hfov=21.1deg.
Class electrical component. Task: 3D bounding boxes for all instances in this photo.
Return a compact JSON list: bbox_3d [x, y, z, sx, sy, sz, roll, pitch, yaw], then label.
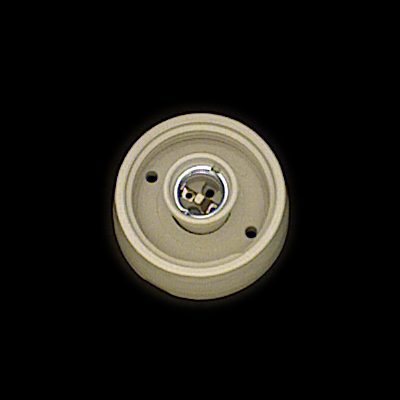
[{"bbox_3d":[0.000,0.000,0.633,0.108,0.108,0.060,0,-16,0],"label":"electrical component"}]
